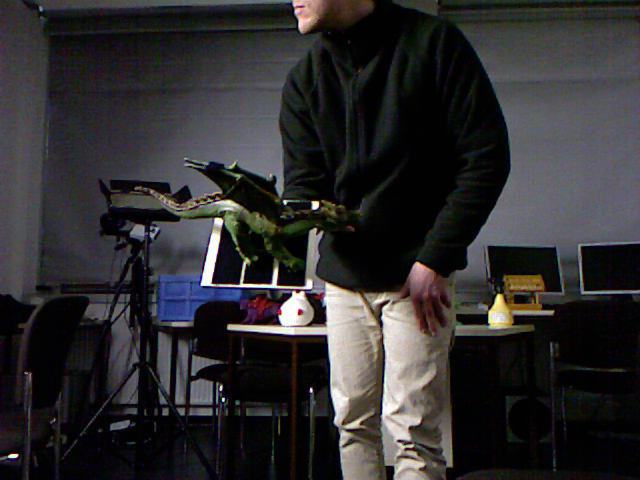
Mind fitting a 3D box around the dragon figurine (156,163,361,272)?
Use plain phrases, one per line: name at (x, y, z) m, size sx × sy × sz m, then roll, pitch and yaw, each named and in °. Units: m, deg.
dragon figurine at (-0.133, -0.065, 0.884) m, size 0.411 × 0.125 × 0.238 m, roll 13°, pitch -27°, yaw 10°
